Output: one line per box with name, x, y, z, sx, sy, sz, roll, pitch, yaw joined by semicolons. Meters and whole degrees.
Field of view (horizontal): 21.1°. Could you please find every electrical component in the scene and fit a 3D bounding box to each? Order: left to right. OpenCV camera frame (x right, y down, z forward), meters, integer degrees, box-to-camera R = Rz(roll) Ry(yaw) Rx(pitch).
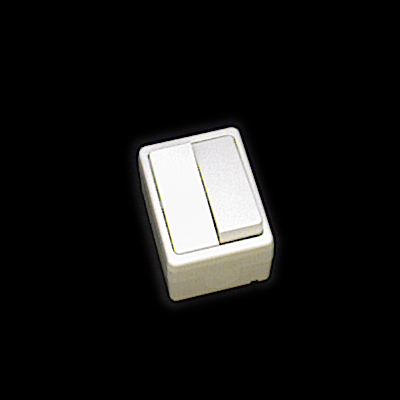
electrical component;0.000;0.000;0.628;0.062;0.096;0.061;-13;-27;-6
